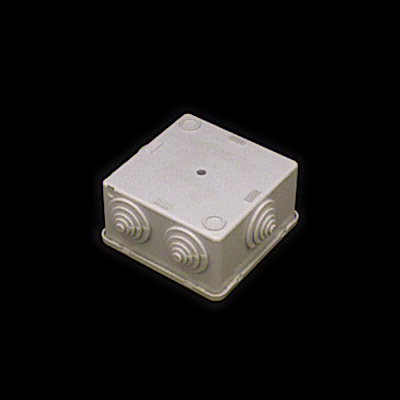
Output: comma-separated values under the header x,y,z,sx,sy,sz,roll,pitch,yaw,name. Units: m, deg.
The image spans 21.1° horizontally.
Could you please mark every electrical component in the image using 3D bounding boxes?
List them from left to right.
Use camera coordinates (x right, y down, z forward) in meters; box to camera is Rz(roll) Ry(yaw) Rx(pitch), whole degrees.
x,y,z,sx,sy,sz,roll,pitch,yaw,name
0.000,0.000,0.634,0.099,0.049,0.099,26,48,25,electrical component
